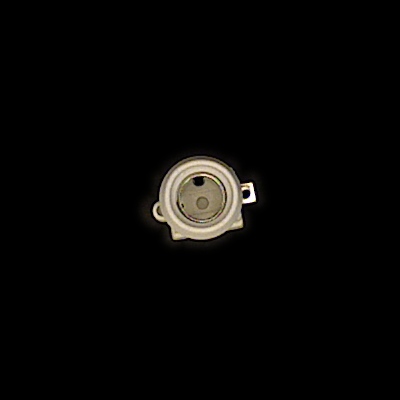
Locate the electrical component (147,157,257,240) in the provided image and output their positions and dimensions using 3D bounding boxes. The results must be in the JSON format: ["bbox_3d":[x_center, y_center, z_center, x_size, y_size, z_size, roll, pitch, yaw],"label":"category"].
[{"bbox_3d":[0.000,0.000,0.639,0.066,0.048,0.055,-12,-4,-1],"label":"electrical component"}]
